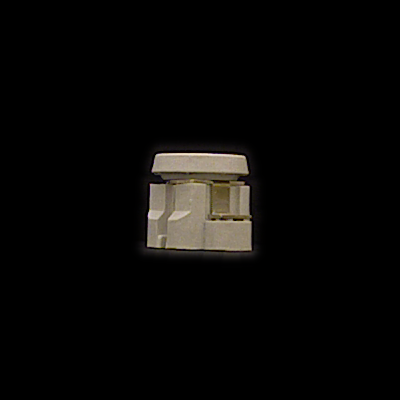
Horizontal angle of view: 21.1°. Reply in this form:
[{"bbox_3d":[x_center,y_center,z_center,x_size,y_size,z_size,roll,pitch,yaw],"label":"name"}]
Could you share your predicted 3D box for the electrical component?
[{"bbox_3d":[0.000,0.000,0.649,0.058,0.057,0.078,1,1,-35],"label":"electrical component"}]
